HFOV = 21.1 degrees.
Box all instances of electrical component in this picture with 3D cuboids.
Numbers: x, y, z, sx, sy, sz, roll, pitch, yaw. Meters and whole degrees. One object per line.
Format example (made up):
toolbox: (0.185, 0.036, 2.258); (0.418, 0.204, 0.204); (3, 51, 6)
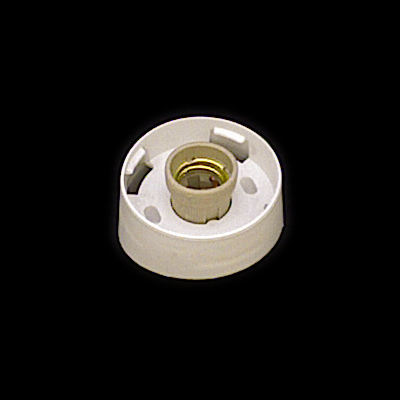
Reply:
electrical component: (0.000, 0.000, 0.626); (0.099, 0.098, 0.064); (0, -38, 0)
